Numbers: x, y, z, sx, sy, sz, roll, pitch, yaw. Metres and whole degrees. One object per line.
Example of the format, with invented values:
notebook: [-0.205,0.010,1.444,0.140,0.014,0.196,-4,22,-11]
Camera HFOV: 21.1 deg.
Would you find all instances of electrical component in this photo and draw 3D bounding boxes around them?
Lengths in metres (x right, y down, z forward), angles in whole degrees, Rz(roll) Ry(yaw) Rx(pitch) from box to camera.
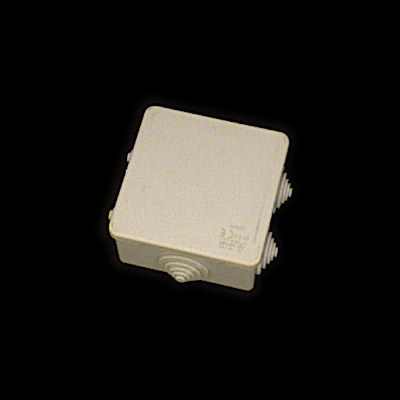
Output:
electrical component: [0.000,0.000,0.639,0.099,0.100,0.048,13,-26,6]
